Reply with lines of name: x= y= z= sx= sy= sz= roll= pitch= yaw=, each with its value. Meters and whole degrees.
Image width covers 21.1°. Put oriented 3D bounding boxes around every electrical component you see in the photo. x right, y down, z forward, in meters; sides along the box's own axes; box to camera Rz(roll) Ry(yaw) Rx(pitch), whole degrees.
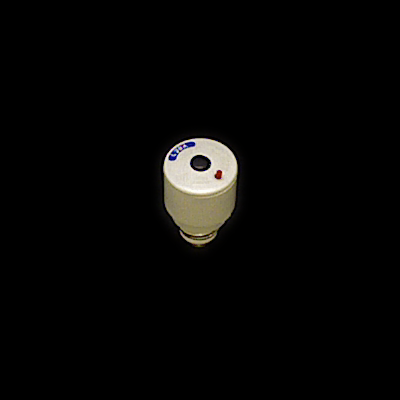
electrical component: x=0.000 y=0.000 z=0.619 sx=0.040 sy=0.040 sz=0.078 roll=0 pitch=-38 yaw=-1
